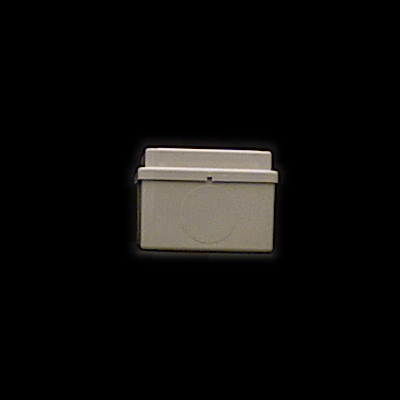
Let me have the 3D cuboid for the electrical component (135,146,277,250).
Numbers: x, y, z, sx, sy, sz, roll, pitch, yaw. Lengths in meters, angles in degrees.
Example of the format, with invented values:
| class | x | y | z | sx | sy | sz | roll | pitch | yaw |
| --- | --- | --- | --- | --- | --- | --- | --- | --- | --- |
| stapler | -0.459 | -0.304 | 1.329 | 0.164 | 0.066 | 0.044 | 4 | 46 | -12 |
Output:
| class | x | y | z | sx | sy | sz | roll | pitch | yaw |
| --- | --- | --- | --- | --- | --- | --- | --- | --- | --- |
| electrical component | 0.000 | 0.000 | 0.649 | 0.078 | 0.057 | 0.113 | 1 | 0 | -5 |
